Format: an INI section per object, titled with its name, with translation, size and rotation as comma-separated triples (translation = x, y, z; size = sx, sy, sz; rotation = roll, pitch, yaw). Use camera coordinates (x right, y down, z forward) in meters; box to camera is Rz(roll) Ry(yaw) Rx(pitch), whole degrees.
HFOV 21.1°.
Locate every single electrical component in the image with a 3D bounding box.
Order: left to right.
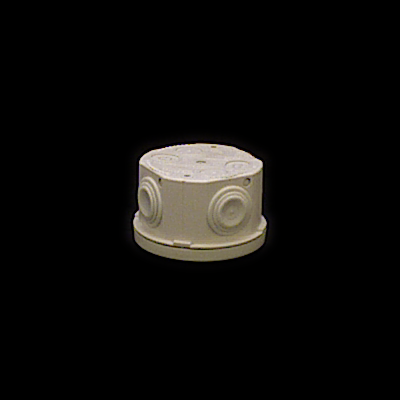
[electrical component]
translation = 0.000, 0.000, 0.642
size = 0.080, 0.051, 0.079
rotation = 1, 20, 0
